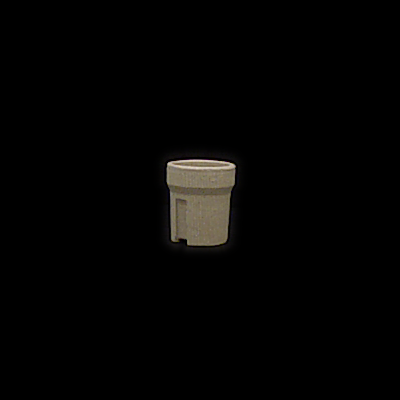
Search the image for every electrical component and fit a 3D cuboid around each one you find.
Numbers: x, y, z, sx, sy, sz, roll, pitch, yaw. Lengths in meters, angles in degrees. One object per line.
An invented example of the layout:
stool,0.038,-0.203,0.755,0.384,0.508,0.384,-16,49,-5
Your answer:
electrical component,0.000,0.000,0.646,0.040,0.046,0.040,1,11,0
